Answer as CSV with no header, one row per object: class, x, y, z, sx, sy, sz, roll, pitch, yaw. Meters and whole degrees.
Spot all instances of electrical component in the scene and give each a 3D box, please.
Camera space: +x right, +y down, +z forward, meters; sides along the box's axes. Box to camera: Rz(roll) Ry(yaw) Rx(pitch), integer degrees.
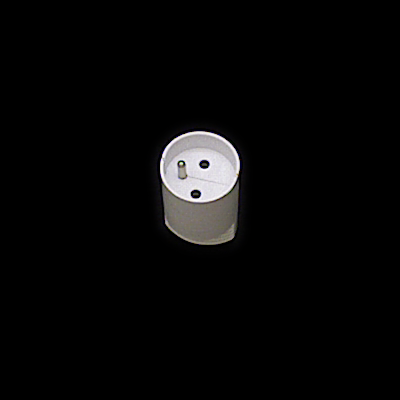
electrical component,0.000,0.000,0.615,0.043,0.043,0.081,0,-28,1
